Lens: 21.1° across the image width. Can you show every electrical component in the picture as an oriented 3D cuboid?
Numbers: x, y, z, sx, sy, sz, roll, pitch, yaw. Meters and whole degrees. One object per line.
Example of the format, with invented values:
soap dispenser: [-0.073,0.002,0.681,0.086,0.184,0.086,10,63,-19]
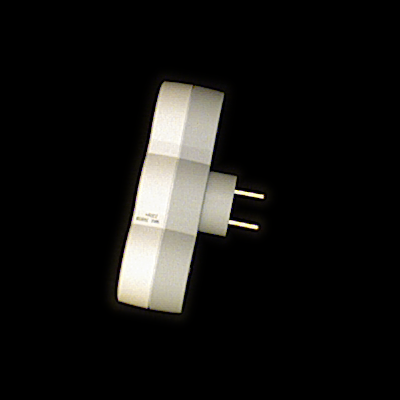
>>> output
electrical component: [0.000,0.000,0.637,0.074,0.139,0.052,11,-16,2]
